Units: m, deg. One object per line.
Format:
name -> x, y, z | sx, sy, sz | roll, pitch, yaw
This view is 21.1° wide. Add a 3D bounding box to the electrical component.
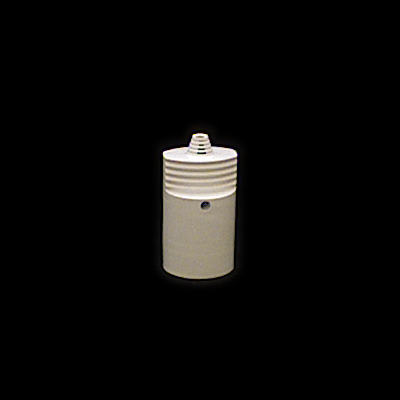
electrical component -> 0.000, 0.000, 0.635 | 0.043, 0.082, 0.042 | 1, 21, 0
